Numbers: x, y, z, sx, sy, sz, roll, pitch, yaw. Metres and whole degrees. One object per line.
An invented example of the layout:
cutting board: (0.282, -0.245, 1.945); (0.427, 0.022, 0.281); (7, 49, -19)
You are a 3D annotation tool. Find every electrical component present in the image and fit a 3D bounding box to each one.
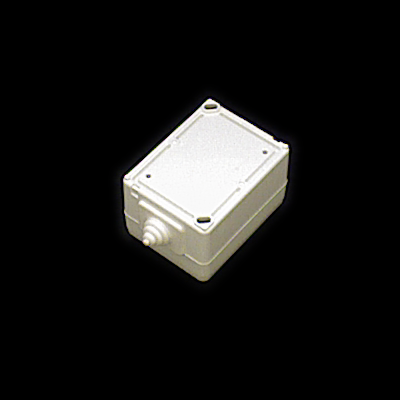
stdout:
electrical component: (0.000, 0.000, 0.623); (0.061, 0.096, 0.061); (32, -32, 22)
